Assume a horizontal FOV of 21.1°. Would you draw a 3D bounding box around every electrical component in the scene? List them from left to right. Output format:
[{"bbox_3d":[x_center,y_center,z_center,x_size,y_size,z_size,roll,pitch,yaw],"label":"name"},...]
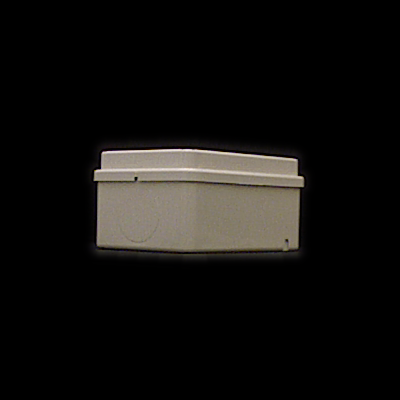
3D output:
[{"bbox_3d":[0.000,0.000,0.648,0.078,0.057,0.113,1,0,40],"label":"electrical component"}]
